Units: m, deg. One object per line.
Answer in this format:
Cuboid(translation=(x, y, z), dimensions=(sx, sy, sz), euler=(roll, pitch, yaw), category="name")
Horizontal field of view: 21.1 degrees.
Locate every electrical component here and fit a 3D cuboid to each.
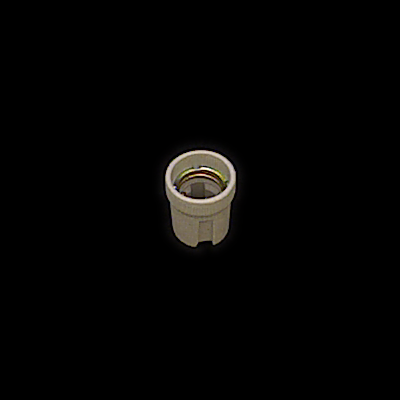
Cuboid(translation=(0.000, 0.000, 0.632), dimensions=(0.040, 0.039, 0.047), euler=(0, -38, -1), category="electrical component")
